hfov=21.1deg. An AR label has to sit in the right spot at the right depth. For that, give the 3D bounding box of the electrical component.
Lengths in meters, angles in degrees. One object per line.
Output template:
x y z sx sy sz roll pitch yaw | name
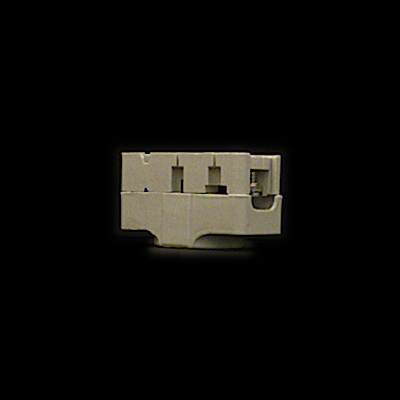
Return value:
0.000 0.000 0.656 0.089 0.056 0.050 1 2 34 | electrical component
